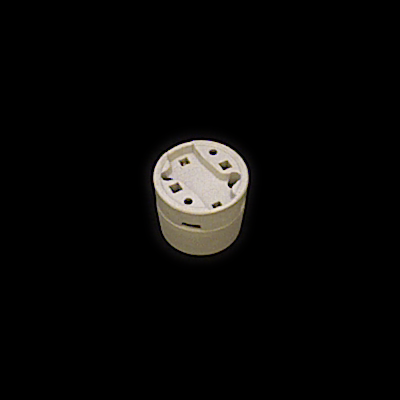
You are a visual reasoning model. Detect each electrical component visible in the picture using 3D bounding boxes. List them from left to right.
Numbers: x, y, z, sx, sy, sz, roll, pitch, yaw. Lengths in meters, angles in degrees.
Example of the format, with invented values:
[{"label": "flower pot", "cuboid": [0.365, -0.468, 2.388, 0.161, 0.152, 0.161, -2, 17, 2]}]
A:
[{"label": "electrical component", "cuboid": [0.000, 0.000, 0.635, 0.055, 0.055, 0.047, 0, -38, -1]}]
